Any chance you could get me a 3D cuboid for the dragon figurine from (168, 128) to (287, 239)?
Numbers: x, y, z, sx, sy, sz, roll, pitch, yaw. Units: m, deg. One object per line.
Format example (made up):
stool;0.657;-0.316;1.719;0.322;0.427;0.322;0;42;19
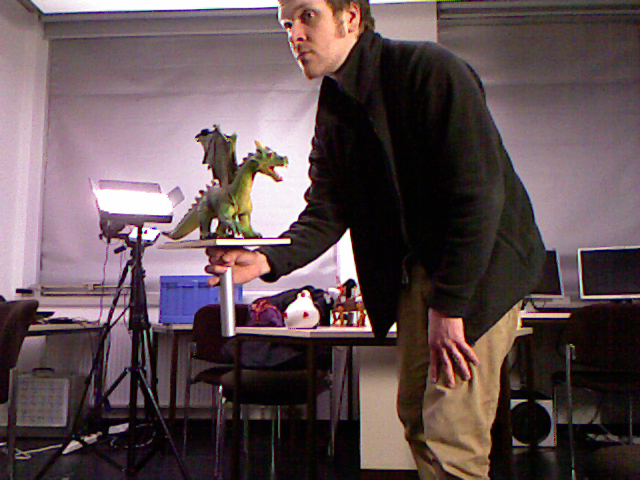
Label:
dragon figurine;-0.231;-0.121;1.132;0.410;0.243;0.123;-2;0;39
